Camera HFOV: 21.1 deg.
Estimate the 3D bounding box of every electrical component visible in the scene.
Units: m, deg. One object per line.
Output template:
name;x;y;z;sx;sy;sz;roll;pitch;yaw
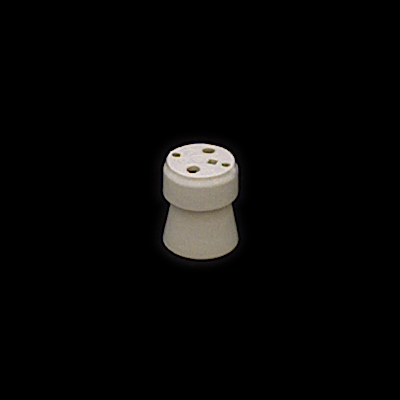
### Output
electrical component;0.000;0.000;0.634;0.045;0.056;0.044;0;32;0
